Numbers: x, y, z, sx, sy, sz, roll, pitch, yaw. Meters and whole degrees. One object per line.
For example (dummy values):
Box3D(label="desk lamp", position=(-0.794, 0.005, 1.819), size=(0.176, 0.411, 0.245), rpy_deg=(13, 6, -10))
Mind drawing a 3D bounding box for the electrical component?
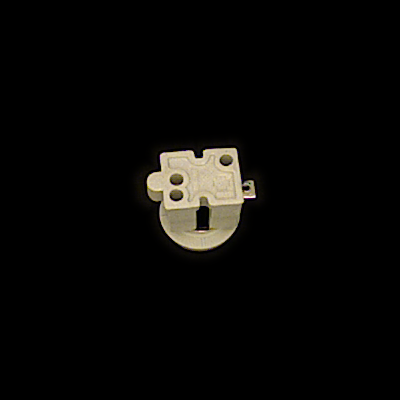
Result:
Box3D(label="electrical component", position=(0.000, 0.000, 0.637), size=(0.066, 0.048, 0.055), rpy_deg=(-5, -28, -3))
